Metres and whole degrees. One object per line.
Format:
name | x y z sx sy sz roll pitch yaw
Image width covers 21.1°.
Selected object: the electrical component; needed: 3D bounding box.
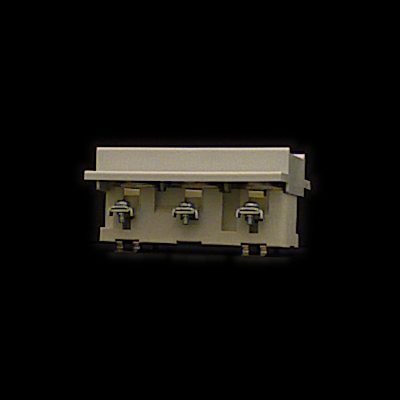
electrical component | 0.000 0.000 0.664 0.121 0.063 0.079 1 -1 18
